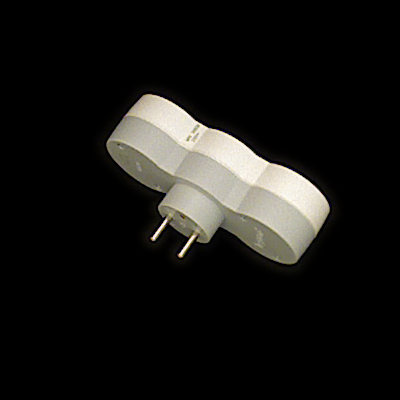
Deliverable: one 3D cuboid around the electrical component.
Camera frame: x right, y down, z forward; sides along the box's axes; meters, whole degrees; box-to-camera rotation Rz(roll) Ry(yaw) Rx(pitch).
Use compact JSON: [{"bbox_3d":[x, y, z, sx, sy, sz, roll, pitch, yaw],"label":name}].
[{"bbox_3d":[0.000,0.000,0.637,0.137,0.074,0.052,31,-21,14],"label":"electrical component"}]
